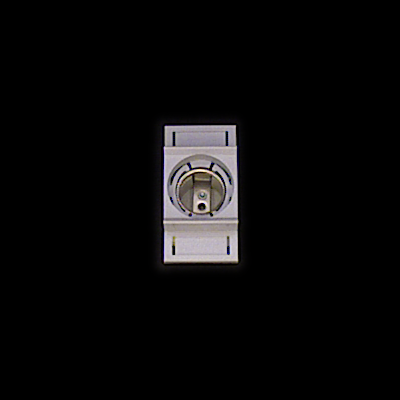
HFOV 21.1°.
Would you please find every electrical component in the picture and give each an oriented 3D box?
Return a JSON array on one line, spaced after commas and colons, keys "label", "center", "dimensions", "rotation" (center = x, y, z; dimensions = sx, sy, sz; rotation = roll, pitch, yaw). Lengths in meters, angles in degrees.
[{"label": "electrical component", "center": [0.000, 0.000, 0.624], "dimensions": [0.042, 0.081, 0.063], "rotation": [0, -16, 1]}]
